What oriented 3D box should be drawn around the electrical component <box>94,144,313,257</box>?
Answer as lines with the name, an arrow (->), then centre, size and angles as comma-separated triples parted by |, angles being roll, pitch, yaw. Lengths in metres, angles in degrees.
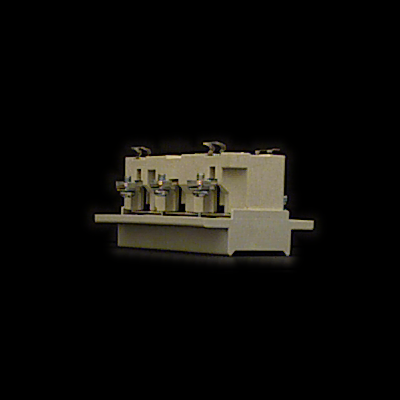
electrical component -> 0.000, 0.000, 0.660 | 0.079, 0.063, 0.120 | 2, 0, -35
